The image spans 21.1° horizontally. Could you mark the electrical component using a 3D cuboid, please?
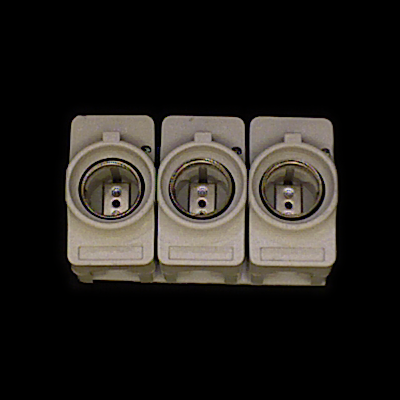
[{"bbox_3d":[0.000,0.000,0.632,0.150,0.089,0.062,1,-18,0],"label":"electrical component"}]
